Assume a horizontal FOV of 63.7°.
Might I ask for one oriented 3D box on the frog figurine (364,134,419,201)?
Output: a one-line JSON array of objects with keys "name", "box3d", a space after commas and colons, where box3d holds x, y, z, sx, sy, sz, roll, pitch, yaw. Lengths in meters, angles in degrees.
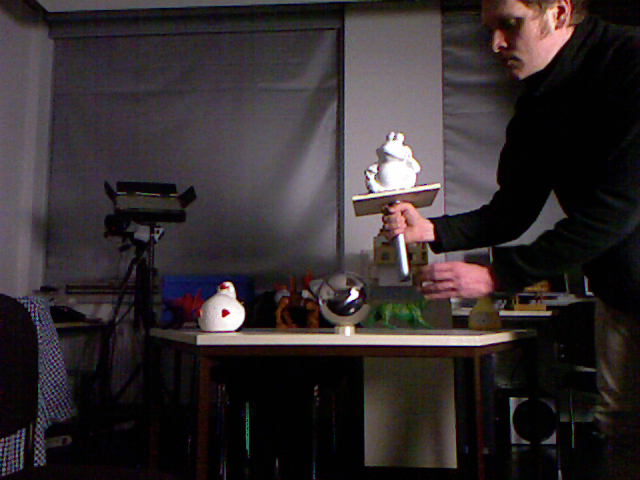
[{"name": "frog figurine", "box3d": [0.175, -0.181, 1.291, 0.137, 0.160, 0.123, -9, -2, 18]}]
